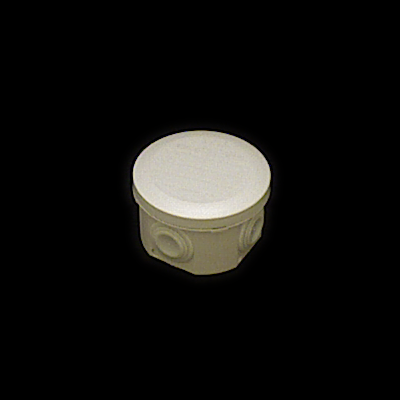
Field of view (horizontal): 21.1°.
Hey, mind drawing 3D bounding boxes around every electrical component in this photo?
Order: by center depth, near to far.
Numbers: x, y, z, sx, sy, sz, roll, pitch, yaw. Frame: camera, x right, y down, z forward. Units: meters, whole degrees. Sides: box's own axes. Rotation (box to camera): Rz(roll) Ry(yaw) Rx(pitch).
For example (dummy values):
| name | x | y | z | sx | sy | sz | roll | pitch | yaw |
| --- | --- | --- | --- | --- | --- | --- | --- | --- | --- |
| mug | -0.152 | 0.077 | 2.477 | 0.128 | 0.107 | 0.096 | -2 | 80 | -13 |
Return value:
| name | x | y | z | sx | sy | sz | roll | pitch | yaw |
| --- | --- | --- | --- | --- | --- | --- | --- | --- | --- |
| electrical component | 0.000 | 0.000 | 0.633 | 0.080 | 0.051 | 0.079 | 1 | 42 | 0 |
